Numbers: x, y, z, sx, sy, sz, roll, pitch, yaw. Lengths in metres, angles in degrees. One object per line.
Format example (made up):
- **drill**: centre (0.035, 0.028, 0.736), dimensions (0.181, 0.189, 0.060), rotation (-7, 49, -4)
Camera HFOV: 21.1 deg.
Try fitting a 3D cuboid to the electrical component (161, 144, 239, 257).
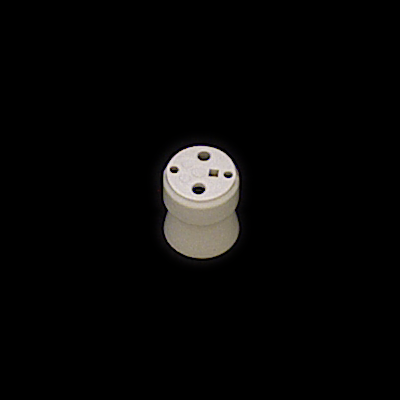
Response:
- **electrical component**: centre (0.000, 0.000, 0.629), dimensions (0.045, 0.044, 0.055), rotation (0, -37, 0)
